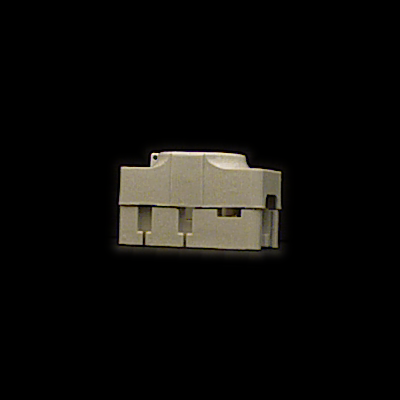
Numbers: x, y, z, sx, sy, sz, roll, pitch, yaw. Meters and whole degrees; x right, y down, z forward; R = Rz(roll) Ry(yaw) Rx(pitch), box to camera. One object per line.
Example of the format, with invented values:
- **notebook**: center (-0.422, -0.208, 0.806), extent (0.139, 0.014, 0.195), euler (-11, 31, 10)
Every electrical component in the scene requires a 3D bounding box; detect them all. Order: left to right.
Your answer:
- **electrical component**: center (0.000, 0.000, 0.657), extent (0.089, 0.056, 0.050), euler (2, 1, 19)
